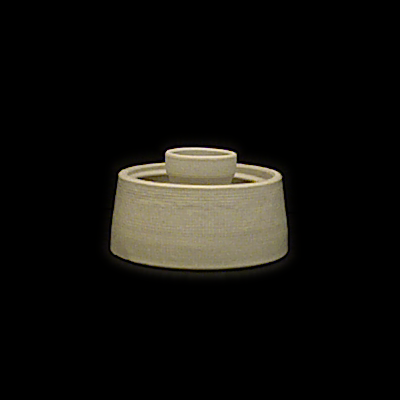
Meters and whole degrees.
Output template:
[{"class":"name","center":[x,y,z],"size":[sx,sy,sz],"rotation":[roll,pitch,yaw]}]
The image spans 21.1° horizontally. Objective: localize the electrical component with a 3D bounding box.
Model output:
[{"class":"electrical component","center":[0.000,0.000,0.649],"size":[0.108,0.061,0.107],"rotation":[2,11,0]}]
